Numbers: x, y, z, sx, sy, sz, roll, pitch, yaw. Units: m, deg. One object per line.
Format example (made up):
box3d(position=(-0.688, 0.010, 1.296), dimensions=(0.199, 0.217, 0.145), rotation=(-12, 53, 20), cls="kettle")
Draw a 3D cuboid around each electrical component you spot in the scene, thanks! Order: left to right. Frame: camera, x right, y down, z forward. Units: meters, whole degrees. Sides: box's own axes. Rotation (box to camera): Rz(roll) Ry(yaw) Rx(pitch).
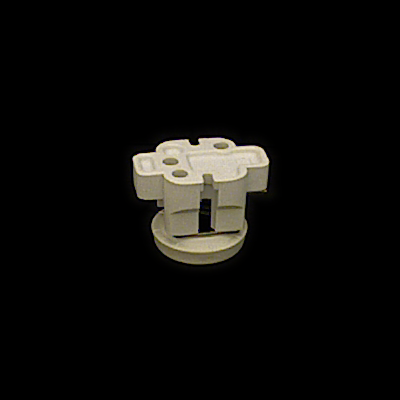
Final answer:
box3d(position=(0.000, 0.000, 0.644), dimensions=(0.079, 0.057, 0.057), rotation=(-5, 32, -12), cls="electrical component")
